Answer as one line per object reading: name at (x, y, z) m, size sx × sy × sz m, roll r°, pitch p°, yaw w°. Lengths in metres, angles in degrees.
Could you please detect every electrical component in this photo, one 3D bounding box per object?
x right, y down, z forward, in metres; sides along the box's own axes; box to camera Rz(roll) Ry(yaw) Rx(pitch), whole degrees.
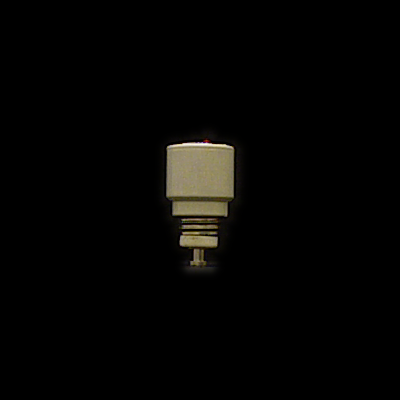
electrical component at (0.001, 0.000, 0.652) m, size 0.040 × 0.078 × 0.040 m, roll 1°, pitch 0°, yaw 0°
